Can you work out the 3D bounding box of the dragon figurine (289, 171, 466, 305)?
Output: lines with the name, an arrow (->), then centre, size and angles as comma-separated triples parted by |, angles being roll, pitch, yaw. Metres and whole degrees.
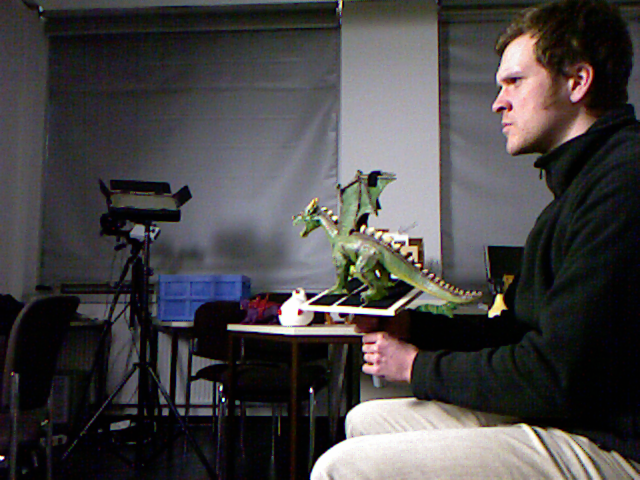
dragon figurine -> 0.096, -0.014, 1.015 | 0.411, 0.241, 0.123 | 3, 15, 43
